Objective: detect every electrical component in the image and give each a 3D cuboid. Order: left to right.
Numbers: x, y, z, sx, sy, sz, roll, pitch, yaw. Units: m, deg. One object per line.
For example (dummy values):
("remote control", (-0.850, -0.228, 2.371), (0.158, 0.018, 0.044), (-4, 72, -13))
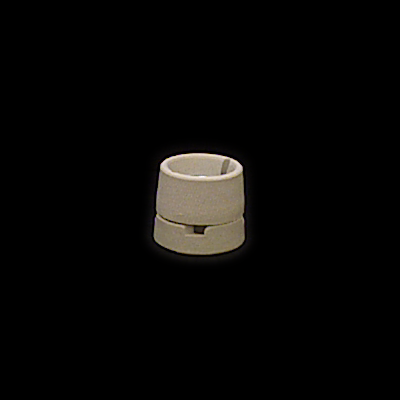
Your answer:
("electrical component", (0.000, 0.000, 0.642), (0.055, 0.047, 0.055), (2, 21, -1))
